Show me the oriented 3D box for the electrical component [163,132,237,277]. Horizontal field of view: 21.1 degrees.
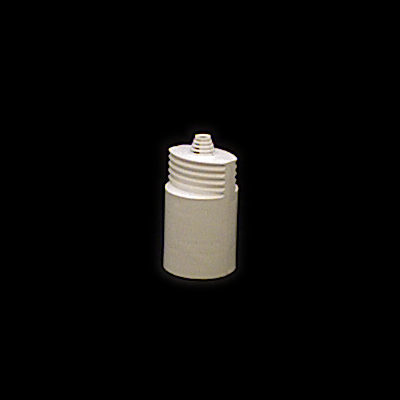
[{"bbox_3d":[0.000,0.000,0.634,0.043,0.082,0.042,1,21,0],"label":"electrical component"}]
